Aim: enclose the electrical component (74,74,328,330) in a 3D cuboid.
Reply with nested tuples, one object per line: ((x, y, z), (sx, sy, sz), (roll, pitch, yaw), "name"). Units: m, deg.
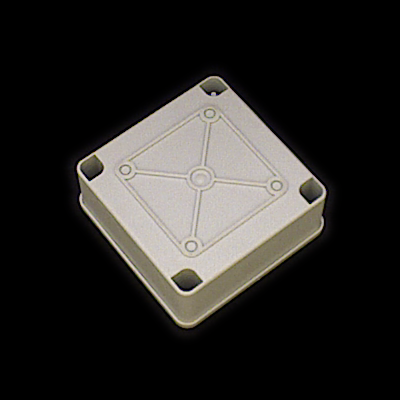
((0.000, 0.000, 0.629), (0.109, 0.108, 0.056), (-35, -22, -17), "electrical component")
